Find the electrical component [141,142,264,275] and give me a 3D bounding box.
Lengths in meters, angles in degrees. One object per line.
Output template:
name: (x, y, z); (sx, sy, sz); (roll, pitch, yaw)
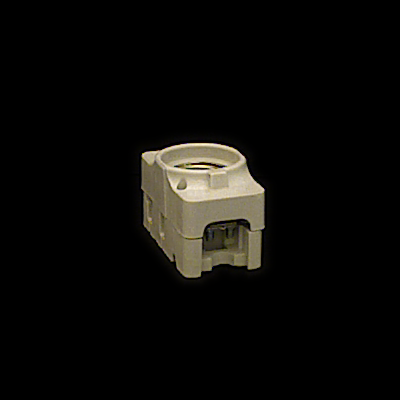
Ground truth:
electrical component: (0.000, 0.000, 0.646); (0.050, 0.056, 0.088); (-7, 23, -19)
